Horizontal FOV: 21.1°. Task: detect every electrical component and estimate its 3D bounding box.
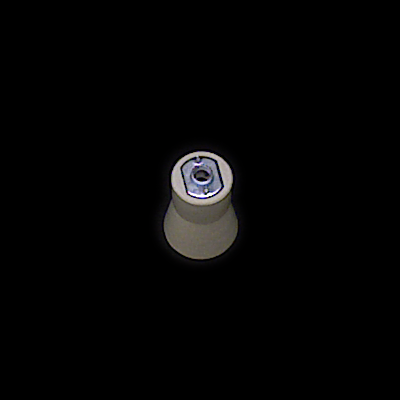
[{"bbox_3d":[0.000,0.000,0.625,0.044,0.044,0.065,0,-28,-1],"label":"electrical component"}]
